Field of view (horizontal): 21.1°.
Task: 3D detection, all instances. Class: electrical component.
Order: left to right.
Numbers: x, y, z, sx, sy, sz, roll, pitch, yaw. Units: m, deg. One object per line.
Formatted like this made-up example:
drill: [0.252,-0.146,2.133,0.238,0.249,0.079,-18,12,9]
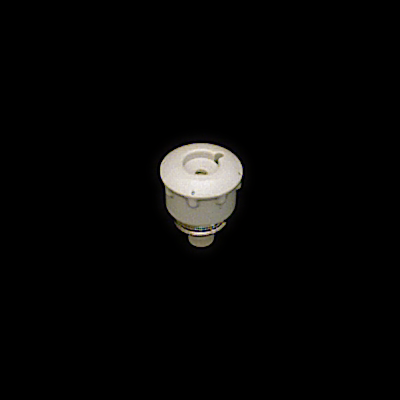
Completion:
electrical component: [0.000,0.000,0.639,0.048,0.062,0.047,1,43,0]
